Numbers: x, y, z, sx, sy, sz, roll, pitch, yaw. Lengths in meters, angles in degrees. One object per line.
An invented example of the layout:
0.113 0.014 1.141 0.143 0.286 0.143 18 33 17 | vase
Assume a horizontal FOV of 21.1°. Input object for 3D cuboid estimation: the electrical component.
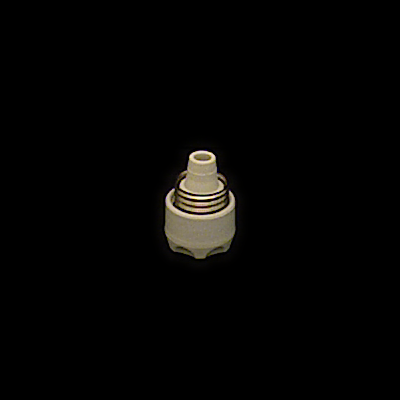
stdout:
0.000 0.000 0.641 0.043 0.063 0.043 2 32 -1 | electrical component
